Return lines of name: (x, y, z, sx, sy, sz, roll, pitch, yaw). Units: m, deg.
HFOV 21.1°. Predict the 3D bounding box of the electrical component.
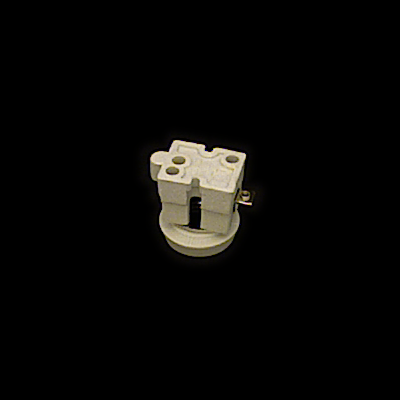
electrical component: (0.000, 0.000, 0.640, 0.066, 0.056, 0.048, 11, 42, 10)
